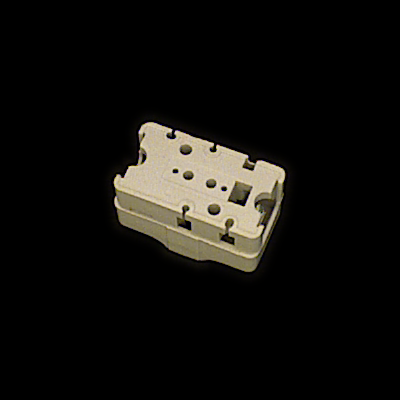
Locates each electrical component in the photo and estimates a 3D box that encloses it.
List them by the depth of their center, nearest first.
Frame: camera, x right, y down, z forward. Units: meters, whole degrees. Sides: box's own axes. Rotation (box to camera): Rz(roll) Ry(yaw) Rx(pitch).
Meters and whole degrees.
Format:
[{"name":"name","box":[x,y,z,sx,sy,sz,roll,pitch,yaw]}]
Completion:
[{"name":"electrical component","box":[0.000,0.000,0.636,0.089,0.050,0.055,20,-25,9]}]
